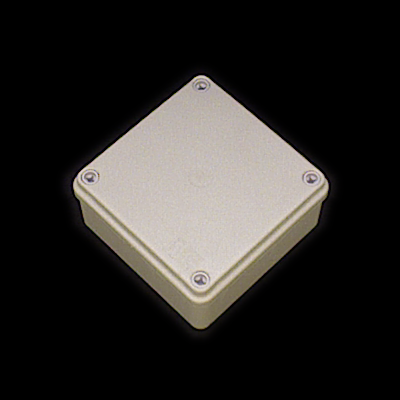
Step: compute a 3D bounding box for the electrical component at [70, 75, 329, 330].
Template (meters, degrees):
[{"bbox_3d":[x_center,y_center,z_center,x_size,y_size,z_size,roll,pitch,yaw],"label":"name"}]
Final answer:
[{"bbox_3d":[0.000,0.000,0.630,0.109,0.108,0.056,-41,-20,-20],"label":"electrical component"}]
